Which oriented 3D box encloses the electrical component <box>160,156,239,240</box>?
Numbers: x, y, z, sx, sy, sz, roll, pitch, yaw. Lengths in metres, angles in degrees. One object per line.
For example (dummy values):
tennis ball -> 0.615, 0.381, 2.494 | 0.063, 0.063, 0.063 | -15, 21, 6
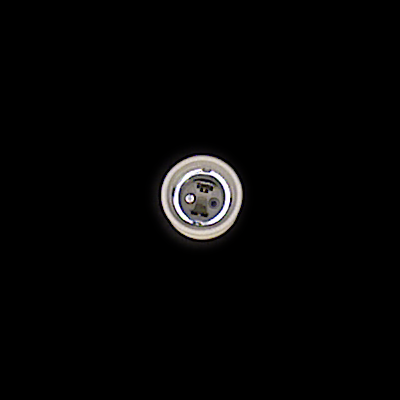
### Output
electrical component -> 0.000, 0.000, 0.629 | 0.045, 0.045, 0.055 | 0, -7, 0
